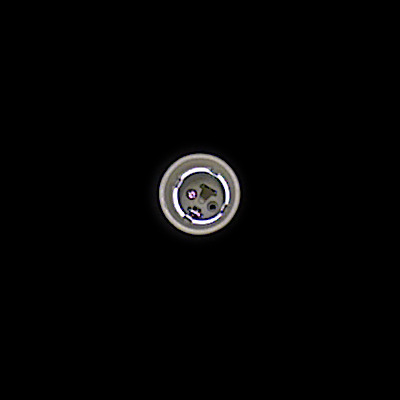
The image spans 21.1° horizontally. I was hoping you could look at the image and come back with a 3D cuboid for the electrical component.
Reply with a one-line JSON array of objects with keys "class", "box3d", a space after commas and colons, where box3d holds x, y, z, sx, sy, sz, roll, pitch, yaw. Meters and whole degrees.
[{"class": "electrical component", "box3d": [0.000, 0.000, 0.625, 0.044, 0.044, 0.065, 0, -6, 2]}]
